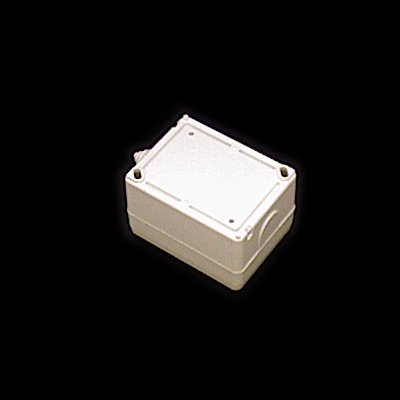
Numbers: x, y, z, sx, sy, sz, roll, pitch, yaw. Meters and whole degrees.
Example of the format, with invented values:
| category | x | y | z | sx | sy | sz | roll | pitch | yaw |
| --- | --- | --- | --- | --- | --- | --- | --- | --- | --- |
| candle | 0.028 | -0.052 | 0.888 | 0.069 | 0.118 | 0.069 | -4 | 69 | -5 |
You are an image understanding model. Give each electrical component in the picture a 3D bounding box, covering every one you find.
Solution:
| category | x | y | z | sx | sy | sz | roll | pitch | yaw |
| --- | --- | --- | --- | --- | --- | --- | --- | --- | --- |
| electrical component | 0.000 | 0.000 | 0.631 | 0.096 | 0.061 | 0.061 | 28 | -33 | 21 |
